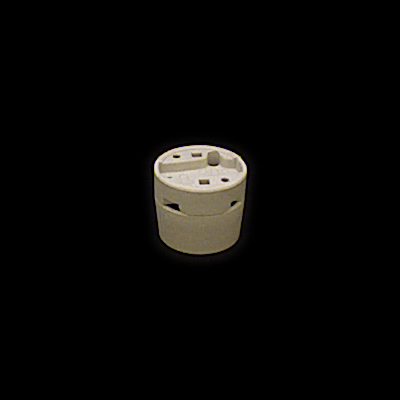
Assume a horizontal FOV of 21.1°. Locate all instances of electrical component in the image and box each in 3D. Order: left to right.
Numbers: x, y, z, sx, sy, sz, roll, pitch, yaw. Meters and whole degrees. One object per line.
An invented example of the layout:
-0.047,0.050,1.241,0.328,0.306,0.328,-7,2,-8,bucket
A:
0.000,0.000,0.640,0.055,0.047,0.055,1,32,0,electrical component
